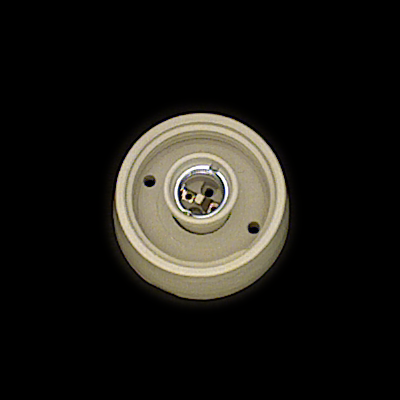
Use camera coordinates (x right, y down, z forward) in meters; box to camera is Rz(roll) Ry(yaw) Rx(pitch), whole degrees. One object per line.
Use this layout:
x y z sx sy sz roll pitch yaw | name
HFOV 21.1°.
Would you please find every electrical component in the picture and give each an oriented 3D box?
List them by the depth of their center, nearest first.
0.000 0.000 0.633 0.108 0.108 0.060 0 -16 0 | electrical component
